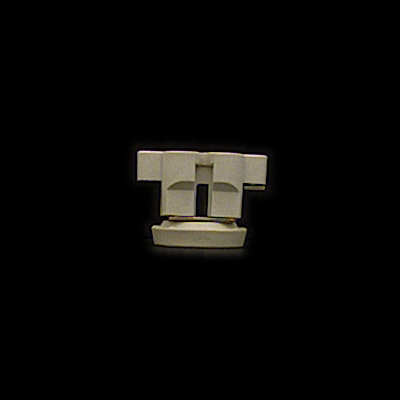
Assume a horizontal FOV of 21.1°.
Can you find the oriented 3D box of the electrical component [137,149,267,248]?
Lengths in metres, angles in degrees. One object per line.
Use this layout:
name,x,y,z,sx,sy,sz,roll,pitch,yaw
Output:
electrical component,0.000,0.000,0.658,0.079,0.057,0.057,3,0,-5
